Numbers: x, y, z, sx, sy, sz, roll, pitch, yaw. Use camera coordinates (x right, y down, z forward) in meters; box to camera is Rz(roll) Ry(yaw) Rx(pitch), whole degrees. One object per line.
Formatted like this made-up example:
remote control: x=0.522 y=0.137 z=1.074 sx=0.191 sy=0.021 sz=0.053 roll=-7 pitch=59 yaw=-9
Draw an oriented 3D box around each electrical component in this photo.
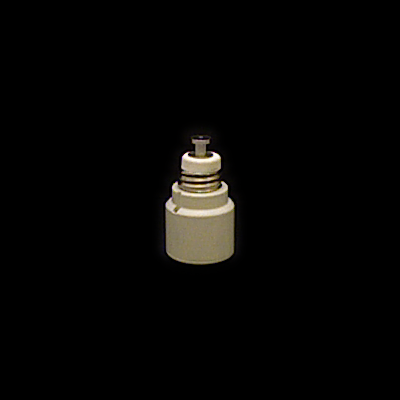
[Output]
electrical component: x=0.000 y=0.000 z=0.636 sx=0.040 sy=0.079 sz=0.039 roll=1 pitch=22 yaw=0
